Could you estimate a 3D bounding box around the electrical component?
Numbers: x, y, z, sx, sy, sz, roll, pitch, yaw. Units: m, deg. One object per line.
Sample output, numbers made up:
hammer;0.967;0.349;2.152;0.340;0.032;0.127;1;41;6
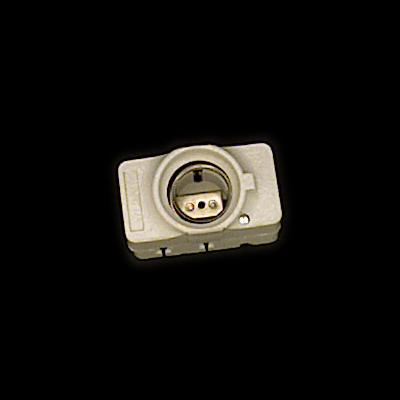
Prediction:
electrical component;0.000;0.000;0.636;0.090;0.050;0.055;-8;-16;-2
